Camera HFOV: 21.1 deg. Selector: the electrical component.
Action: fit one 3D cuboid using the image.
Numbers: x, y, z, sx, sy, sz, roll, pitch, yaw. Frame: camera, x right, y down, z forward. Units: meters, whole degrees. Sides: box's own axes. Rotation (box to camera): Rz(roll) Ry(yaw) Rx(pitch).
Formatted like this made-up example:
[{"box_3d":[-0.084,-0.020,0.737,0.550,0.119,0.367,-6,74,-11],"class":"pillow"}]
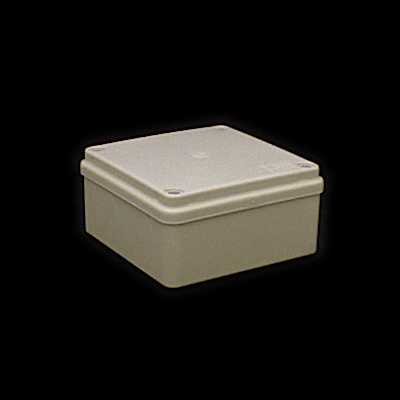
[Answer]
[{"box_3d":[0.000,0.000,0.640,0.109,0.057,0.107,-12,24,-31],"class":"electrical component"}]
